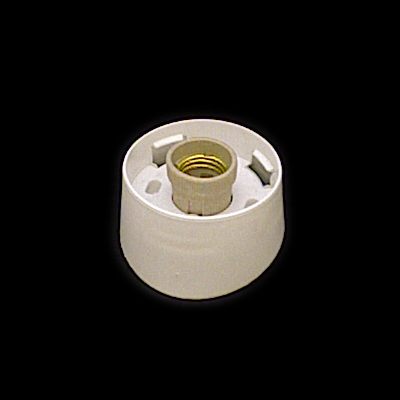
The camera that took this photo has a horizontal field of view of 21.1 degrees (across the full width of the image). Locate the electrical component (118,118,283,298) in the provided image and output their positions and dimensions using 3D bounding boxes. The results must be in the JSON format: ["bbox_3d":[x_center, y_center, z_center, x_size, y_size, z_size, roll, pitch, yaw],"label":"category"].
[{"bbox_3d":[0.000,0.000,0.630,0.099,0.065,0.098,1,42,0],"label":"electrical component"}]
